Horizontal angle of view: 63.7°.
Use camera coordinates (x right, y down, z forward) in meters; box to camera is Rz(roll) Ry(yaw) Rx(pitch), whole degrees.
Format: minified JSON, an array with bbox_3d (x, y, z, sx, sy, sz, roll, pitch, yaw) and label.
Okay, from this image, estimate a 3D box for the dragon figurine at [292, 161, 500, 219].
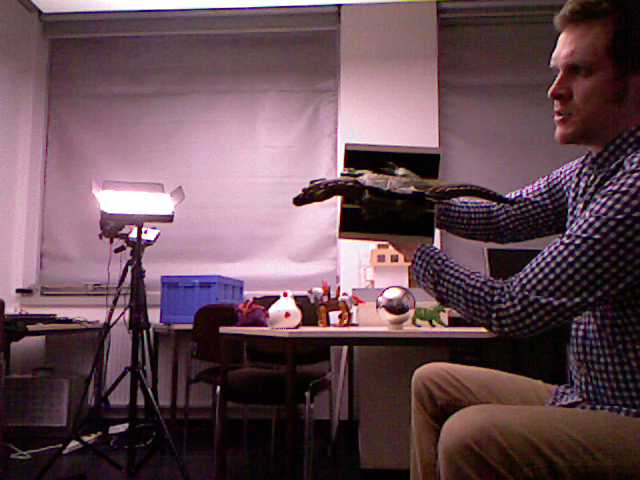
[{"bbox_3d":[0.154,-0.087,0.962,0.412,0.122,0.245,-1,8,4],"label":"dragon figurine"}]
